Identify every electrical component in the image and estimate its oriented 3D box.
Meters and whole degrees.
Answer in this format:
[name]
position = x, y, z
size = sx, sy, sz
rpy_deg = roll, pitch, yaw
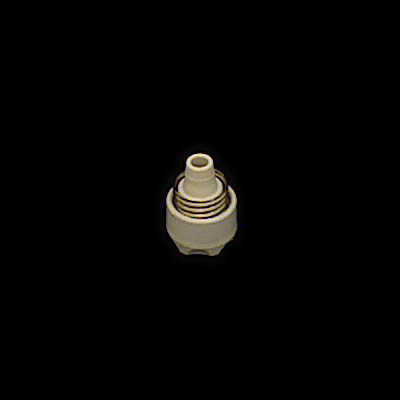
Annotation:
[electrical component]
position = 0.000, 0.000, 0.638
size = 0.043, 0.062, 0.043
rpy_deg = 0, 42, 1
